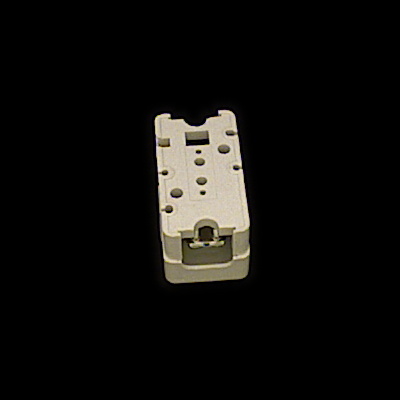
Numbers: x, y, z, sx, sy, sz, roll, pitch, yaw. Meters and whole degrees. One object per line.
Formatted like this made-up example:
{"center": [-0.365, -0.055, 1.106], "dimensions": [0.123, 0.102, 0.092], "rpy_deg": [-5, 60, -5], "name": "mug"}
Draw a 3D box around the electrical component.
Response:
{"center": [0.000, 0.000, 0.637], "dimensions": [0.050, 0.089, 0.056], "rpy_deg": [-4, -37, -2], "name": "electrical component"}
